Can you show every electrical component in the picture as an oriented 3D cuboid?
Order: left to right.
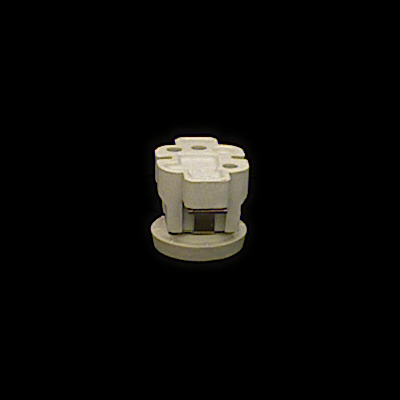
[{"bbox_3d":[0.000,0.000,0.645,0.058,0.057,0.077,-1,23,-7],"label":"electrical component"}]
